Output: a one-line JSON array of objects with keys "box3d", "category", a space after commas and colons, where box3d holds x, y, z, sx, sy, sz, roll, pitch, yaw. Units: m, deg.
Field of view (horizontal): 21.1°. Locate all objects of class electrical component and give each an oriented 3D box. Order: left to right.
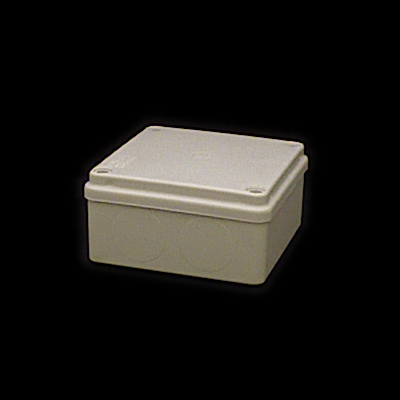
[{"box3d": [0.000, 0.000, 0.640, 0.108, 0.057, 0.107, 8, 22, 15], "category": "electrical component"}]
